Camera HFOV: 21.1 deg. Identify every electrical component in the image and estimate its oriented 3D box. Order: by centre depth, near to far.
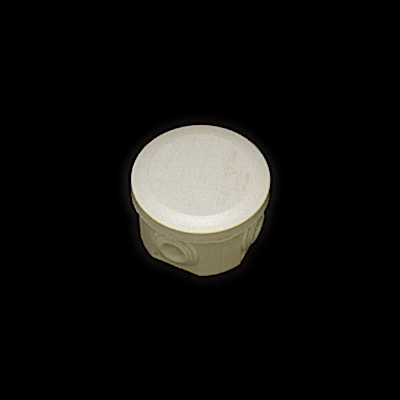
[{"bbox_3d":[0.000,0.000,0.630,0.080,0.080,0.051,0,-38,0],"label":"electrical component"}]
